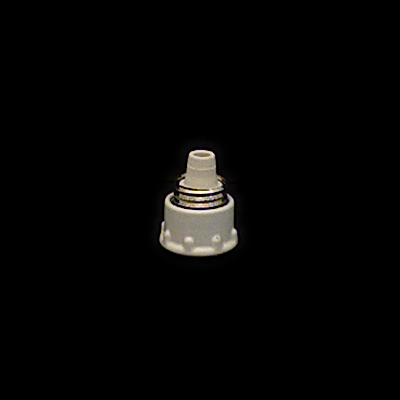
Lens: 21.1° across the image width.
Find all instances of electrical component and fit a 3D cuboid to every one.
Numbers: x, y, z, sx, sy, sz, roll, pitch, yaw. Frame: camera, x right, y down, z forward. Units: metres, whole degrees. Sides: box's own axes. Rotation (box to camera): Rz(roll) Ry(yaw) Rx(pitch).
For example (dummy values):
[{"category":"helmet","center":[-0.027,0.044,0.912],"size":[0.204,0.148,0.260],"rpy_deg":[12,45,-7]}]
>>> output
[{"category":"electrical component","center":[0.000,0.000,0.647],"size":[0.048,0.063,0.047],"rpy_deg":[2,22,0]}]
